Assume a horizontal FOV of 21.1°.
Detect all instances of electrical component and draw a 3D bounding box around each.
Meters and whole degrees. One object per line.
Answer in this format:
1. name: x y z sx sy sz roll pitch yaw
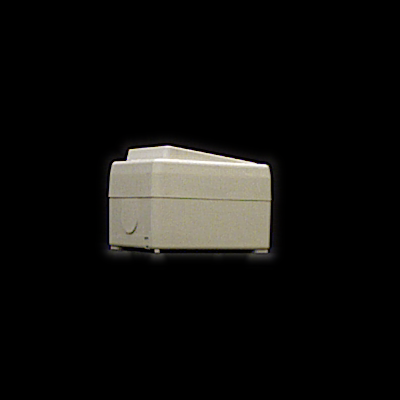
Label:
1. electrical component: 0.000 0.000 0.651 0.096 0.061 0.061 1 0 -31
